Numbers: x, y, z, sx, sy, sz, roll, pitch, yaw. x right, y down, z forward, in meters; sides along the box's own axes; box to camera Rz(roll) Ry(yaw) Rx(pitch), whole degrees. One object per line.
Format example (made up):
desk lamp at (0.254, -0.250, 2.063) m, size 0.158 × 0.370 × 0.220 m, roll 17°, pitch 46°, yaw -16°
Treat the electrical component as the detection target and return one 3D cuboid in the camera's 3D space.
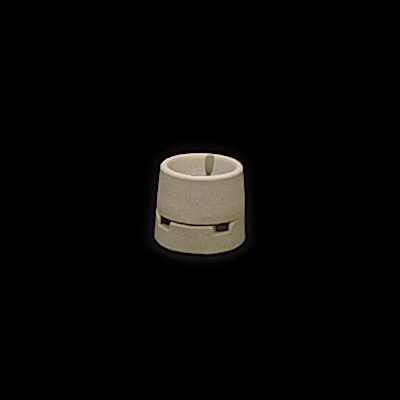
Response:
electrical component at (0.000, 0.000, 0.643) m, size 0.055 × 0.047 × 0.055 m, roll 2°, pitch 20°, yaw 0°
